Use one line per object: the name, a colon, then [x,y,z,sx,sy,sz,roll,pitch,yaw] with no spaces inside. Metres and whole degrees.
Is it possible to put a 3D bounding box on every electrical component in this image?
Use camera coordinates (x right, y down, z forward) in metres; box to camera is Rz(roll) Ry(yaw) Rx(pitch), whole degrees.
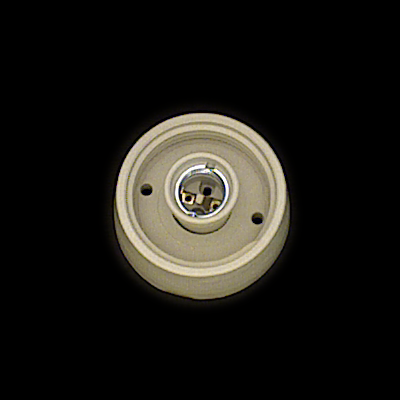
electrical component: [0.000,0.000,0.633,0.108,0.108,0.060,0,-16,0]
